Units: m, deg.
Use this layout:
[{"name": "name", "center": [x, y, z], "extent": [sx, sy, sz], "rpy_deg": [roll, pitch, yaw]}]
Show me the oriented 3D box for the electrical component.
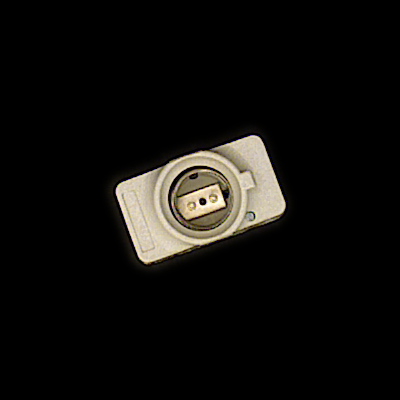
[{"name": "electrical component", "center": [0.000, 0.000, 0.637], "extent": [0.090, 0.050, 0.055], "rpy_deg": [-20, -5, -1]}]
